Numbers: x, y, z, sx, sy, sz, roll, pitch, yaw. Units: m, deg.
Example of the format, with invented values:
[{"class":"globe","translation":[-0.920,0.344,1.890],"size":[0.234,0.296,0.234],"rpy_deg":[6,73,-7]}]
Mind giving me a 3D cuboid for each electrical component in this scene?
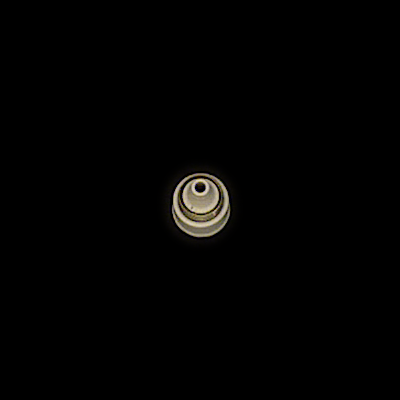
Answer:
[{"class":"electrical component","translation":[0.000,0.000,0.638],"size":[0.035,0.035,0.061],"rpy_deg":[0,-15,1]}]
